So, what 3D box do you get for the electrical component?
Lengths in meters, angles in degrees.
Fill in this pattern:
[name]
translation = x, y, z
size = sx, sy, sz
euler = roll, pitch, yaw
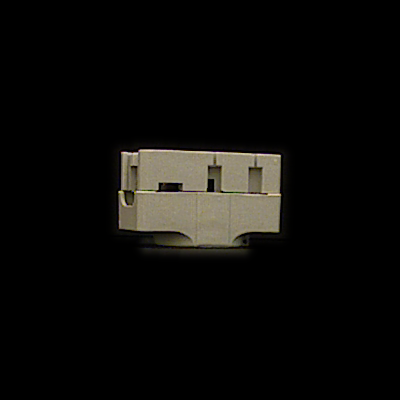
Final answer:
[electrical component]
translation = 0.000, 0.000, 0.657
size = 0.090, 0.056, 0.050
euler = 1, 1, -21
